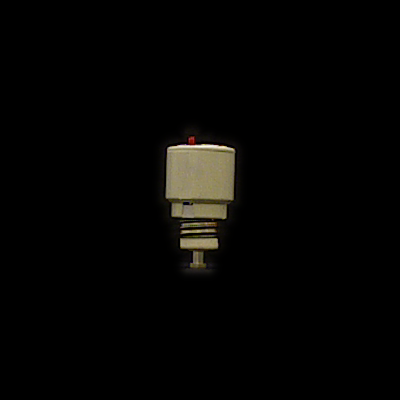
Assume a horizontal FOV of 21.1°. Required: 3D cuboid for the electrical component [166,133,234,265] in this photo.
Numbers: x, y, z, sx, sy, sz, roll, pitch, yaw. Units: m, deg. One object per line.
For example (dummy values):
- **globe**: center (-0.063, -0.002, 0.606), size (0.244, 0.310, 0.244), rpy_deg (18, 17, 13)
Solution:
- **electrical component**: center (0.000, 0.000, 0.647), size (0.040, 0.078, 0.040), rpy_deg (1, 2, 0)
